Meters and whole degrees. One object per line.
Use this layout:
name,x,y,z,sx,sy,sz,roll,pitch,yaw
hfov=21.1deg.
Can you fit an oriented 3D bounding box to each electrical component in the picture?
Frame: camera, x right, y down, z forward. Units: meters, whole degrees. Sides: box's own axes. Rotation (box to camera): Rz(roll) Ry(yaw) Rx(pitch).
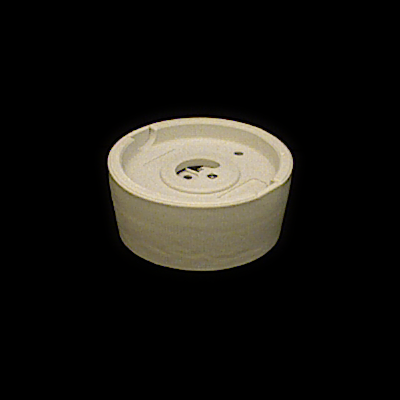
electrical component,0.000,0.000,0.641,0.108,0.061,0.106,1,32,0
